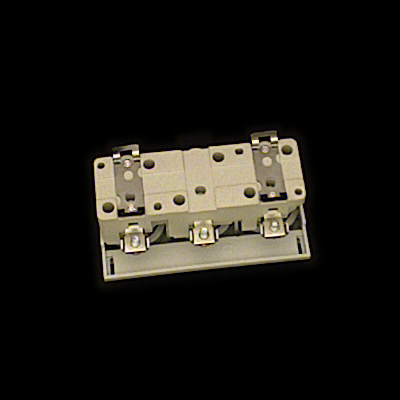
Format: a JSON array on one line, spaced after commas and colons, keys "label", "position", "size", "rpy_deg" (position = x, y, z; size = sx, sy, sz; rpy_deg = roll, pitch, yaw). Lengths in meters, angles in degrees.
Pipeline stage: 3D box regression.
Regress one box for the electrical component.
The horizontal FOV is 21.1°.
[{"label": "electrical component", "position": [0.000, 0.000, 0.635], "size": [0.122, 0.078, 0.063], "rpy_deg": [-6, -27, -4]}]
